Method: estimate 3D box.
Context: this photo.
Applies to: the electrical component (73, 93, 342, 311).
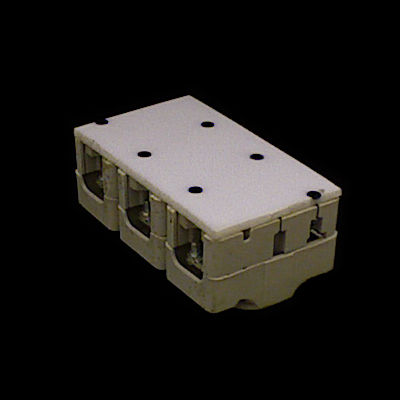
[{"bbox_3d":[0.000,0.000,0.641,0.089,0.063,0.147,-19,36,-30],"label":"electrical component"}]
